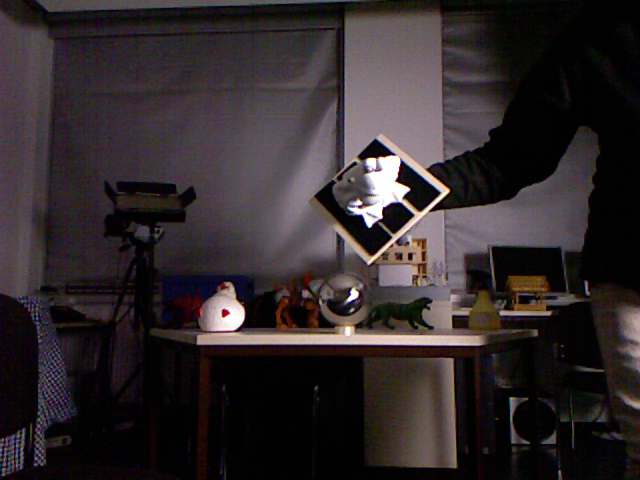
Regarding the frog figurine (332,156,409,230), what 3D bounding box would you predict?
[{"bbox_3d":[0.084,-0.108,0.938,0.137,0.125,0.157,-28,-32,9],"label":"frog figurine"}]
